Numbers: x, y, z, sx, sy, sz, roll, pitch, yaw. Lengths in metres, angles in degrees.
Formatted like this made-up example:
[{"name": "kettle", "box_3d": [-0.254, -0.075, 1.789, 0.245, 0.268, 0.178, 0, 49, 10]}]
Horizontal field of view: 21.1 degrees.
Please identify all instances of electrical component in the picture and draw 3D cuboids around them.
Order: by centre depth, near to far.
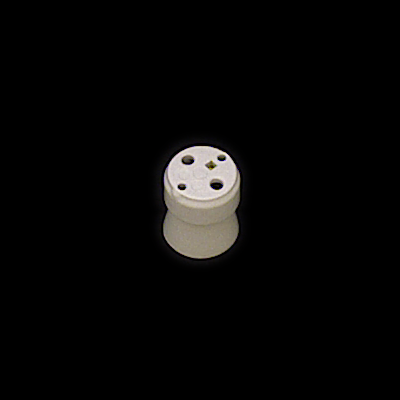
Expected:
[{"name": "electrical component", "box_3d": [0.000, 0.000, 0.629, 0.045, 0.044, 0.055, 0, -37, 0]}]
